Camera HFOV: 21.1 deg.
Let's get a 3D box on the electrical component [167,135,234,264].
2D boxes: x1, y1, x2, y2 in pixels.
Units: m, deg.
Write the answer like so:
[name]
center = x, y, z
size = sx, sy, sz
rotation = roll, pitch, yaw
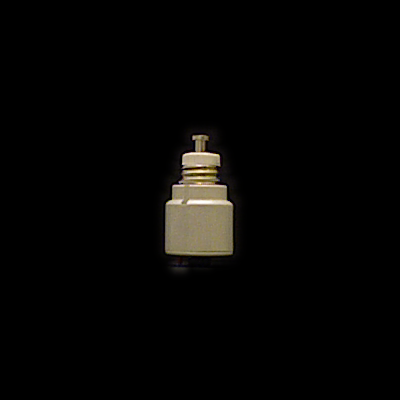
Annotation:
[electrical component]
center = 0.000, 0.000, 0.651
size = 0.040, 0.078, 0.040
rotation = 1, 2, 0
